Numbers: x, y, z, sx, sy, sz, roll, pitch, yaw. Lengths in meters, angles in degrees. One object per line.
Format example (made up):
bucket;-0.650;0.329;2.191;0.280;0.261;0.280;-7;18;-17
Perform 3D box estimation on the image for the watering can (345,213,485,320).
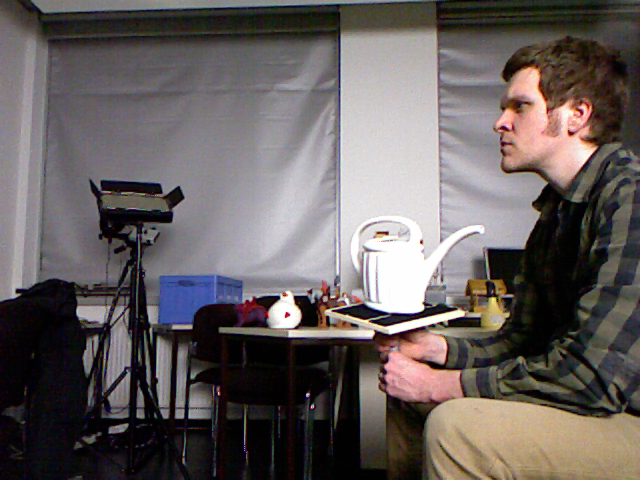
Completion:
watering can;0.175;0.059;1.028;0.105;0.223;0.348;-11;9;-39
